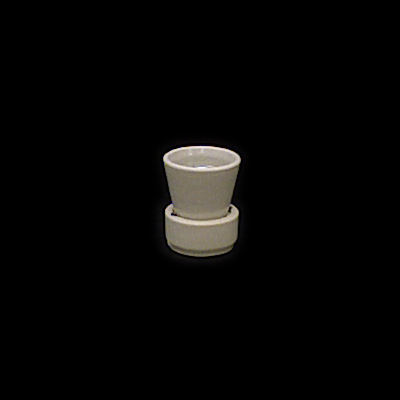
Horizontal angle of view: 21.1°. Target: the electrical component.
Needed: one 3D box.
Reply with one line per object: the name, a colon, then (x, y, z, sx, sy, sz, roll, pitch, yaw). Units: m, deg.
electrical component: (0.000, 0.000, 0.639, 0.045, 0.056, 0.044, 1, 21, 0)
